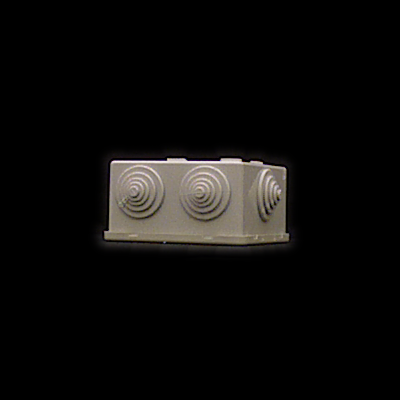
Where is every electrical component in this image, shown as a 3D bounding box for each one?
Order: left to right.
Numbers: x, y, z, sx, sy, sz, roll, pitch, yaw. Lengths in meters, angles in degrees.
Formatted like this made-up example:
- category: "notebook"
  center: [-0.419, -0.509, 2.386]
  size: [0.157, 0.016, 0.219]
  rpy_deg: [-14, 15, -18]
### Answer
- category: "electrical component"
  center: [0.000, 0.000, 0.650]
  size: [0.099, 0.048, 0.100]
  rpy_deg: [1, 0, 22]
